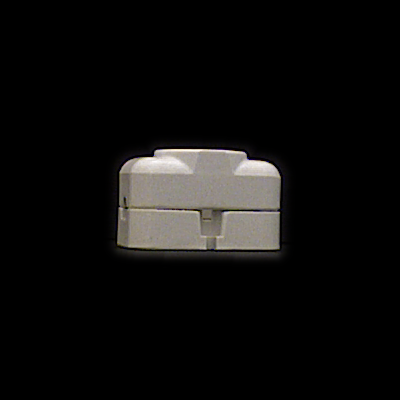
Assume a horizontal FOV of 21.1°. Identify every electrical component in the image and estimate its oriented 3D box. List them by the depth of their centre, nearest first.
[{"bbox_3d":[0.000,0.000,0.658,0.096,0.059,0.053,1,2,-19],"label":"electrical component"}]
